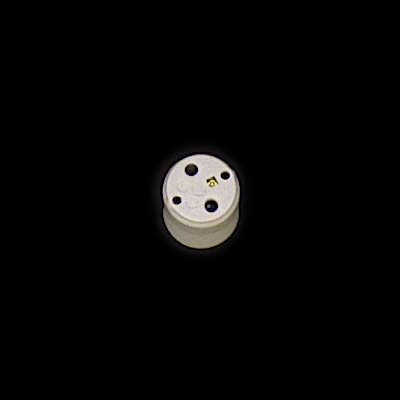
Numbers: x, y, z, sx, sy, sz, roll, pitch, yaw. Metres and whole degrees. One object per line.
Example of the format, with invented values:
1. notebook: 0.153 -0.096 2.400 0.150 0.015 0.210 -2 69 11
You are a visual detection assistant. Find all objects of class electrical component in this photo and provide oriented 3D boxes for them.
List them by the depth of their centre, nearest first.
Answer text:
1. electrical component: 0.000 0.000 0.628 0.045 0.045 0.055 0 -16 1
